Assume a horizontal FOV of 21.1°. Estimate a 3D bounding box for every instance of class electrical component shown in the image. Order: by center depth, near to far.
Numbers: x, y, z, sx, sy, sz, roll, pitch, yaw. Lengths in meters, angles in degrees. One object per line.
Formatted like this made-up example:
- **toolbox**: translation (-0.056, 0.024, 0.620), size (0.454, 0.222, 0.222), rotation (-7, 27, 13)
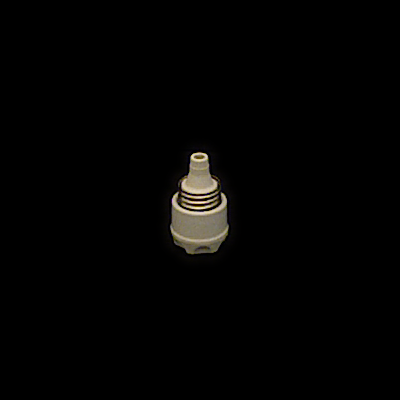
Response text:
- **electrical component**: translation (0.000, 0.000, 0.645), size (0.035, 0.062, 0.034), rotation (0, 31, 0)
